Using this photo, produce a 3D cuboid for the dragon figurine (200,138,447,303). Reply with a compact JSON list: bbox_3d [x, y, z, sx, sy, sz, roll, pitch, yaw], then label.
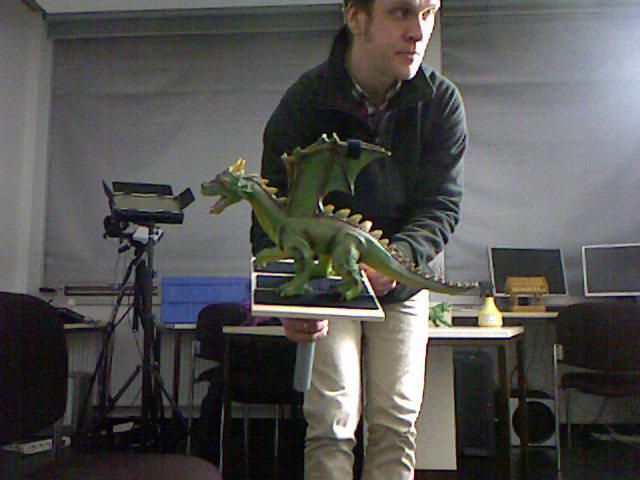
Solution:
[{"bbox_3d":[0.021,-0.037,0.815,0.411,0.239,0.125,4,23,-8],"label":"dragon figurine"}]
